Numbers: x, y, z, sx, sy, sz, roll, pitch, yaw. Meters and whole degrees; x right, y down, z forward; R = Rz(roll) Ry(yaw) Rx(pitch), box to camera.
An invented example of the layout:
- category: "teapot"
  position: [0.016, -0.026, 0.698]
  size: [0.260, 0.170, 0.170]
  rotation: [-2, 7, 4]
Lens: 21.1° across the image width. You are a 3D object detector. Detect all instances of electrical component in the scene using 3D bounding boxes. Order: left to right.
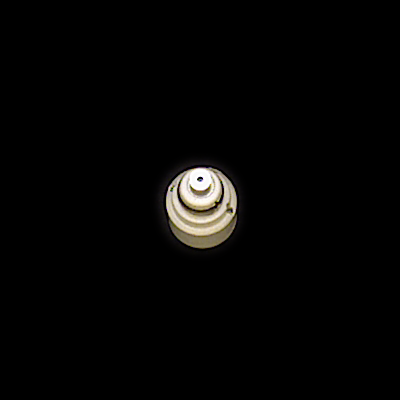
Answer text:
- category: "electrical component"
  position: [0.000, 0.000, 0.617]
  size: [0.040, 0.040, 0.078]
  rotation: [0, -16, 2]
